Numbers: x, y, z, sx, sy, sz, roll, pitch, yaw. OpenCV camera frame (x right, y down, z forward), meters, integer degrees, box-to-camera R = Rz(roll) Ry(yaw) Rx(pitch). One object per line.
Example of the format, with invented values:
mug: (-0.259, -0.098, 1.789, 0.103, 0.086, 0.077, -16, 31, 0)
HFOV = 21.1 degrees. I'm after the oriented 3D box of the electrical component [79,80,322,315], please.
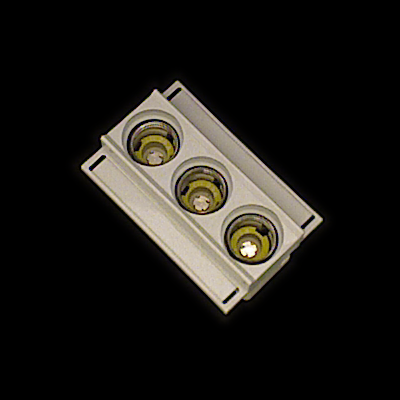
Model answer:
electrical component: (0.000, 0.000, 0.637, 0.079, 0.121, 0.063, -43, -12, -12)
